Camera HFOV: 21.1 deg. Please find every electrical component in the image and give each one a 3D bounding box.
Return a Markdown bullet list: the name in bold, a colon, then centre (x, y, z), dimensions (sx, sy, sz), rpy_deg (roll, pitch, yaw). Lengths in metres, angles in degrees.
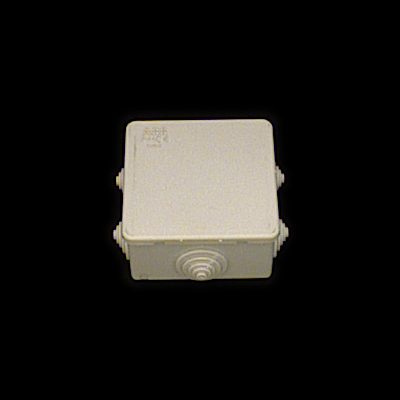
- **electrical component**: centre (0.000, 0.000, 0.640), dimensions (0.100, 0.099, 0.049), rpy_deg (0, -37, -1)
